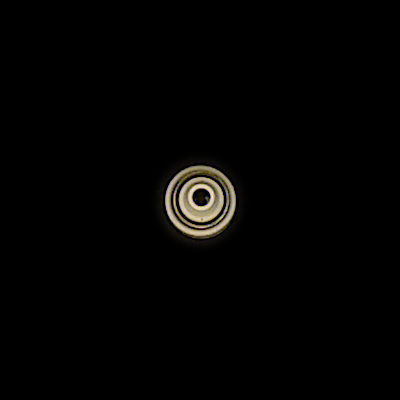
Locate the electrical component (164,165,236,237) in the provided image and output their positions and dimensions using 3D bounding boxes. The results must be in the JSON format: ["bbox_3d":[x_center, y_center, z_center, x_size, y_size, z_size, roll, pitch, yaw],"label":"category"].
[{"bbox_3d":[0.000,0.000,0.635,0.043,0.043,0.062,0,-4,0],"label":"electrical component"}]
